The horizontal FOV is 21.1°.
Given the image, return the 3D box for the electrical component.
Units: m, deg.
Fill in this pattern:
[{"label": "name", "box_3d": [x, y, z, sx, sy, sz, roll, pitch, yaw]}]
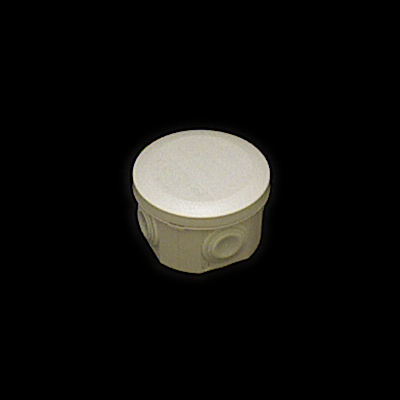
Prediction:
[{"label": "electrical component", "box_3d": [0.000, 0.000, 0.635, 0.080, 0.051, 0.079, 1, 41, 0]}]
